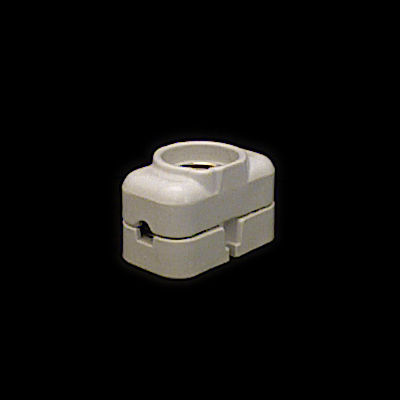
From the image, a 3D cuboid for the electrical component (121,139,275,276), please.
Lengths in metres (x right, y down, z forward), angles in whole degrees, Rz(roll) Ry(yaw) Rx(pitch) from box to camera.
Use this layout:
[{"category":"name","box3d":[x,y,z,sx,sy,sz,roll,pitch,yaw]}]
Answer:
[{"category":"electrical component","box3d":[0.000,0.000,0.644,0.053,0.060,0.095,19,28,38]}]
